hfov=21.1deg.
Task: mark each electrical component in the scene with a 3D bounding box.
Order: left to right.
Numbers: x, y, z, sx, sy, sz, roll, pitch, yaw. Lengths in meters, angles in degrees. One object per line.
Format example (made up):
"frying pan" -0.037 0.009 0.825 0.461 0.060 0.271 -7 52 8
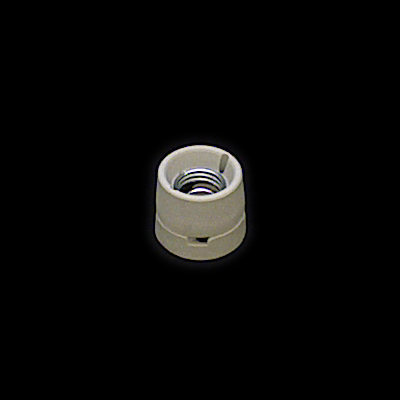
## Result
"electrical component" 0.000 0.000 0.635 0.055 0.047 0.055 0 42 0
